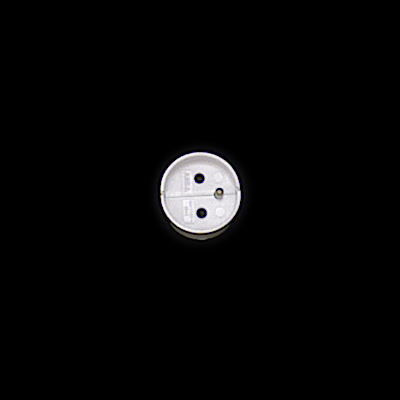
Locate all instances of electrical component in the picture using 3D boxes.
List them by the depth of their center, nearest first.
[{"bbox_3d":[0.000,0.000,0.616,0.043,0.043,0.080,0,-6,-1],"label":"electrical component"}]
